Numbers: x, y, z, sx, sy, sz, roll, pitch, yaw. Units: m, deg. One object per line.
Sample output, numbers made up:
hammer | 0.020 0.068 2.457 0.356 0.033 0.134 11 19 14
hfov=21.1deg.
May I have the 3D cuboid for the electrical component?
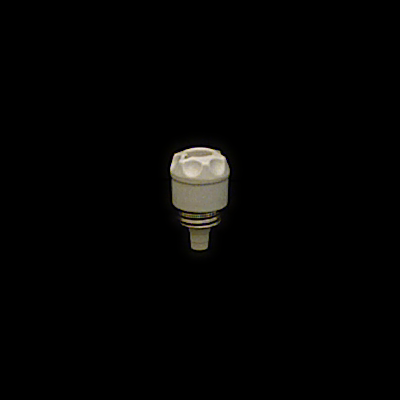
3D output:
electrical component | 0.000 0.000 0.645 0.035 0.062 0.035 1 22 0
